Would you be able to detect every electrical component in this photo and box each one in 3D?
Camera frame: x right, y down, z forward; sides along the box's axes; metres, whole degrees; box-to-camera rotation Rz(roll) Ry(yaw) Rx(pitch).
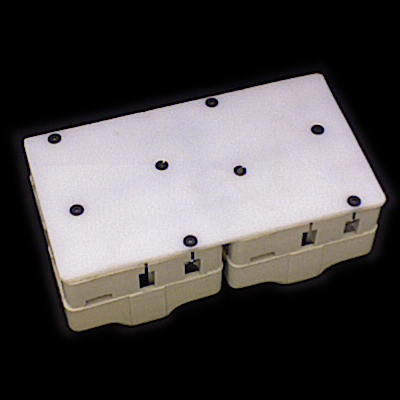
[{"bbox_3d":[0.000,0.000,0.627,0.186,0.105,0.060,-14,-37,-11],"label":"electrical component"}]
